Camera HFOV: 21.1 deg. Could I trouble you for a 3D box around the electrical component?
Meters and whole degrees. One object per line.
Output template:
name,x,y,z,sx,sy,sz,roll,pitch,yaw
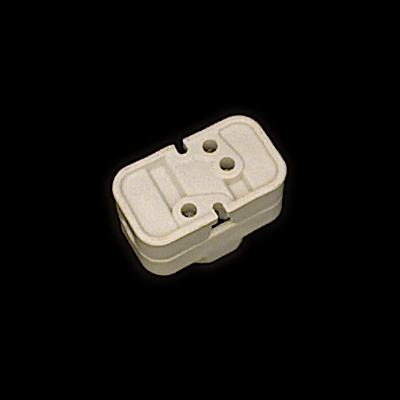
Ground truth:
electrical component,0.000,0.000,0.635,0.096,0.053,0.059,-27,-24,-12
